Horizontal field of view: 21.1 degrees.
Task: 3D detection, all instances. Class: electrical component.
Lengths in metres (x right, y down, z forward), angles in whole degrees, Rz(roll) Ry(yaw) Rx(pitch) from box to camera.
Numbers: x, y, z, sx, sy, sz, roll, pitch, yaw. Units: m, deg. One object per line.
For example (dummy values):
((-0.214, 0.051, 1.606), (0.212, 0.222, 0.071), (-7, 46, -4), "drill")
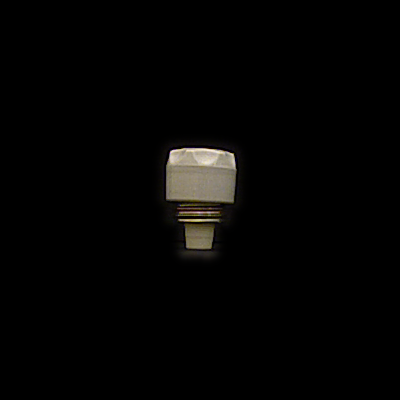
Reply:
((0.000, 0.000, 0.657), (0.043, 0.062, 0.043), (2, 1, 0), "electrical component")
